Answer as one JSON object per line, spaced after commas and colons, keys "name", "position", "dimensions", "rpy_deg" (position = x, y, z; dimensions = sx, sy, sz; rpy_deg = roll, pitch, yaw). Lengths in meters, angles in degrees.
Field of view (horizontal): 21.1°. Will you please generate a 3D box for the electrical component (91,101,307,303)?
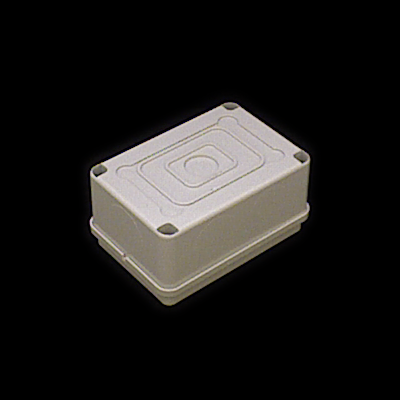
{"name": "electrical component", "position": [0.000, 0.000, 0.631], "dimensions": [0.113, 0.057, 0.077], "rpy_deg": [-29, 50, -28]}
